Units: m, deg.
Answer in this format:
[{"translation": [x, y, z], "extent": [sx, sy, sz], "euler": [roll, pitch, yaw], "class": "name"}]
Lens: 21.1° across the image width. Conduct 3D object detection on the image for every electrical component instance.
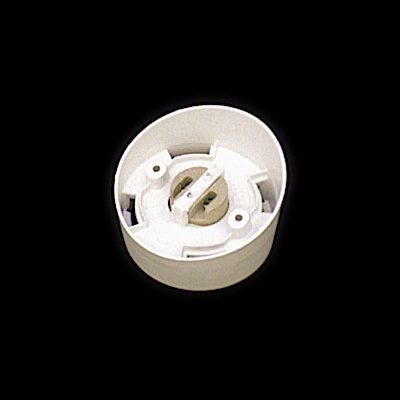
[{"translation": [0.000, 0.000, 0.626], "extent": [0.099, 0.098, 0.064], "euler": [0, -38, -1], "class": "electrical component"}]
